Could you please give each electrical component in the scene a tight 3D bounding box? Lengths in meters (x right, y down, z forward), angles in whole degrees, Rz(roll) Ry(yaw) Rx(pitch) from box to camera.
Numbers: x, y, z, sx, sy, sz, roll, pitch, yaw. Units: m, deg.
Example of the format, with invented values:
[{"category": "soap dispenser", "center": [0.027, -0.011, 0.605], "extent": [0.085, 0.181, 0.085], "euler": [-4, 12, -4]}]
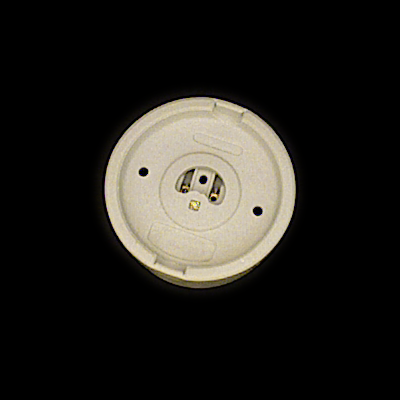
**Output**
[{"category": "electrical component", "center": [0.000, 0.000, 0.632], "extent": [0.108, 0.108, 0.060], "euler": [0, -17, 0]}]
